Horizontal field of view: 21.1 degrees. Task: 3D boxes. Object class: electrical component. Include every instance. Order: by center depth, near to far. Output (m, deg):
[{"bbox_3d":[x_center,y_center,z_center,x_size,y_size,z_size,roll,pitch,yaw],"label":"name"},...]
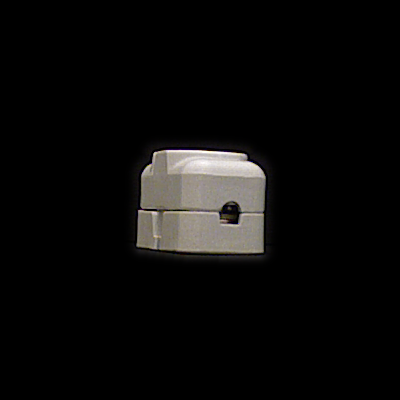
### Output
[{"bbox_3d":[0.000,0.000,0.656,0.054,0.059,0.094,1,0,-24],"label":"electrical component"}]
